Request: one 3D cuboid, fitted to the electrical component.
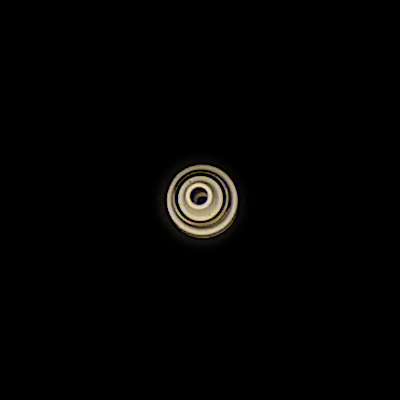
[{"bbox_3d":[0.000,0.000,0.635,0.043,0.043,0.062,0,-5,2],"label":"electrical component"}]
